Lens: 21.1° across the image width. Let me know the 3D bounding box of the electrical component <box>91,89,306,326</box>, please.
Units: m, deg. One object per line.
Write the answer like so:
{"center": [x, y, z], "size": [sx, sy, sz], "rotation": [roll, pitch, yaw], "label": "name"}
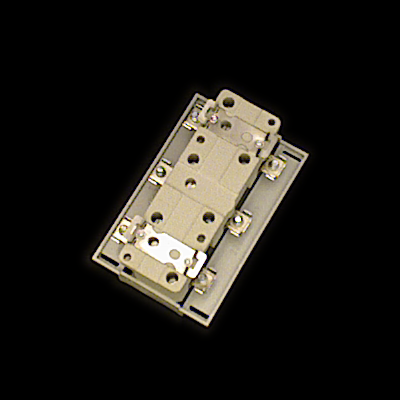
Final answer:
{"center": [0.000, 0.000, 0.633], "size": [0.078, 0.122, 0.062], "rotation": [29, -14, 8], "label": "electrical component"}
